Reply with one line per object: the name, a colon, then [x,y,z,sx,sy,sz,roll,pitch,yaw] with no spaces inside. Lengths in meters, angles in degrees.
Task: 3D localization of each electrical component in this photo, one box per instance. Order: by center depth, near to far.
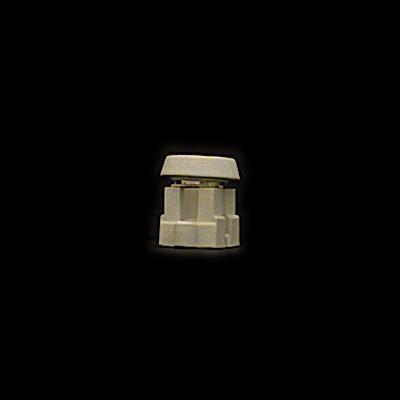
electrical component: [0.000,0.000,0.658,0.048,0.055,0.067,4,2,20]
